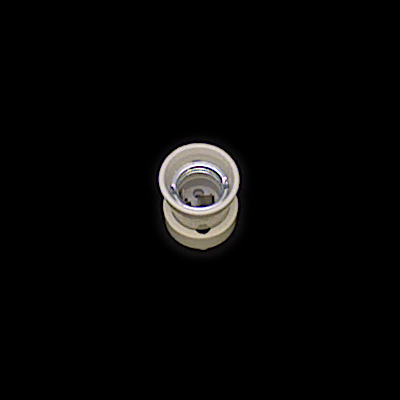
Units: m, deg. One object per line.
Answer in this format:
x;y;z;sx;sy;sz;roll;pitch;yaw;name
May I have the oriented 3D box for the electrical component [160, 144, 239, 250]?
0.000;0.000;0.627;0.045;0.045;0.055;0;-27;0;electrical component
